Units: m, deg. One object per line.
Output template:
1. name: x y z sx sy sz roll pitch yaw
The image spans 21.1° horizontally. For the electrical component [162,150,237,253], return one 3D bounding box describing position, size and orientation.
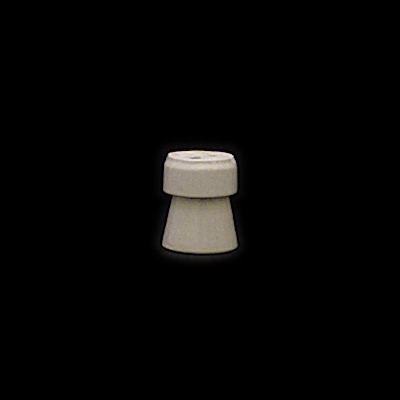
1. electrical component: 0.000 0.000 0.643 0.045 0.055 0.044 1 11 0
